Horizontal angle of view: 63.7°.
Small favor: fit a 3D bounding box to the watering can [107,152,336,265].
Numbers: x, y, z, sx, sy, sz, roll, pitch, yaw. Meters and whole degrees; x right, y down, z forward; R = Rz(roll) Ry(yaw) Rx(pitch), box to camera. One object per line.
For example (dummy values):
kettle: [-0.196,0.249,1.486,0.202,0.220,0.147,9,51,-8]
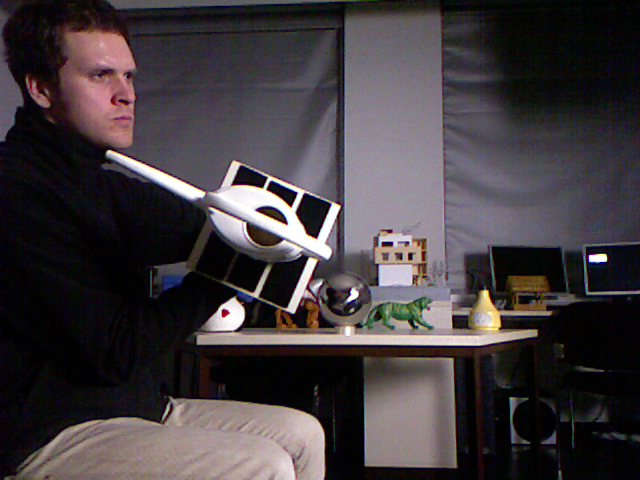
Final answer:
watering can: [-0.136,-0.042,0.799,0.350,0.105,0.224,25,-5,3]
